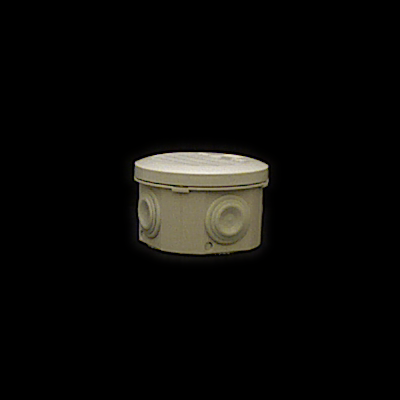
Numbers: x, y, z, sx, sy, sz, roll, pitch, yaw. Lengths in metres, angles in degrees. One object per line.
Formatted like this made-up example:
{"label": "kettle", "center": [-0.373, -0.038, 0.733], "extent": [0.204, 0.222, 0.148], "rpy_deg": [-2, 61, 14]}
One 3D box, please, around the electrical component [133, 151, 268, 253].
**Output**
{"label": "electrical component", "center": [0.000, 0.000, 0.643], "extent": [0.080, 0.051, 0.079], "rpy_deg": [1, 11, 0]}
